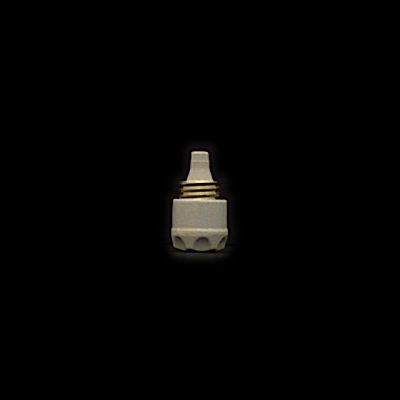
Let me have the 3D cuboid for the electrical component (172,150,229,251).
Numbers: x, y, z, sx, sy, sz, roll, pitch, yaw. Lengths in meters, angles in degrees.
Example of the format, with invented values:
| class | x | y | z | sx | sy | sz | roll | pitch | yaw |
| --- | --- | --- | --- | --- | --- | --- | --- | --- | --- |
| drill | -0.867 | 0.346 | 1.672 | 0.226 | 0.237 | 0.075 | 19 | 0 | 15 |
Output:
| class | x | y | z | sx | sy | sz | roll | pitch | yaw |
| --- | --- | --- | --- | --- | --- | --- | --- | --- | --- |
| electrical component | 0.000 | 0.000 | 0.662 | 0.035 | 0.061 | 0.035 | 0 | 3 | 0 |
